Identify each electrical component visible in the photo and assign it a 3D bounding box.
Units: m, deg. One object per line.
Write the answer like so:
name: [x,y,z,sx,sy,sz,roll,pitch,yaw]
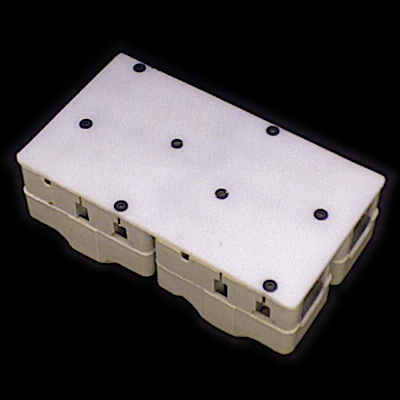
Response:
electrical component: [0.000,0.000,0.627,0.186,0.105,0.060,27,-33,19]
